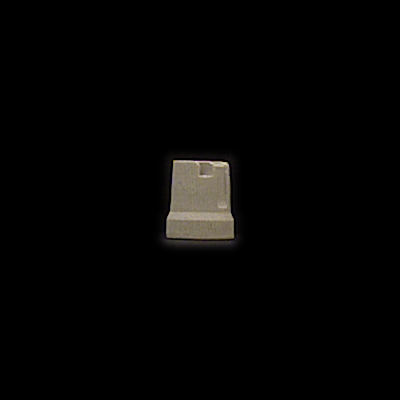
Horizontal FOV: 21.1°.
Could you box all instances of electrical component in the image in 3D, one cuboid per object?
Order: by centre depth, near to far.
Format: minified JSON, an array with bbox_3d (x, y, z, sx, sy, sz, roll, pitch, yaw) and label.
[{"bbox_3d":[0.000,0.000,0.649,0.040,0.046,0.040,1,1,0],"label":"electrical component"}]
